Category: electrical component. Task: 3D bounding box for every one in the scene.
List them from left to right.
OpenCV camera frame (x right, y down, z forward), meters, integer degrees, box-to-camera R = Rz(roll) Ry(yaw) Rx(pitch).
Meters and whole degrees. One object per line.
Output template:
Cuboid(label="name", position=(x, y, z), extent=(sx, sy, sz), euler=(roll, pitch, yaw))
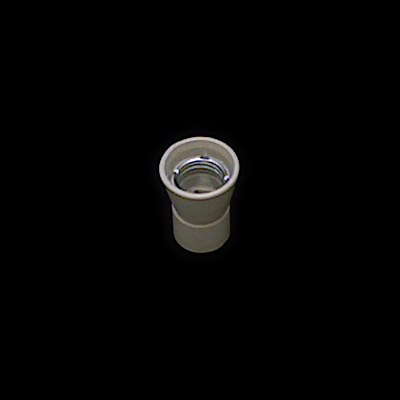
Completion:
Cuboid(label="electrical component", position=(0.000, 0.000, 0.626), extent=(0.044, 0.044, 0.065), euler=(0, -37, 1))
